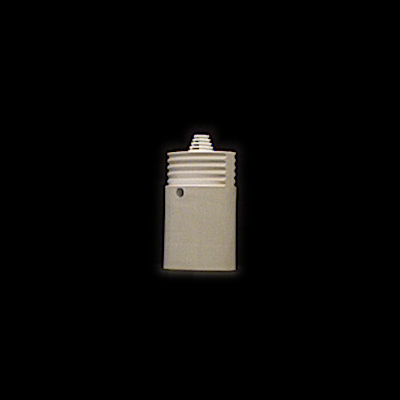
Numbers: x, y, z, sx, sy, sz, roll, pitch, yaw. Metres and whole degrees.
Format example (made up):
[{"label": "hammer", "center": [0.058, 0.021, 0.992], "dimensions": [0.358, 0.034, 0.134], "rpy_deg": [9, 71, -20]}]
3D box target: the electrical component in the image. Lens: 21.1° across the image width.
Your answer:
[{"label": "electrical component", "center": [0.000, 0.000, 0.650], "dimensions": [0.043, 0.081, 0.043], "rpy_deg": [1, 1, 0]}]
